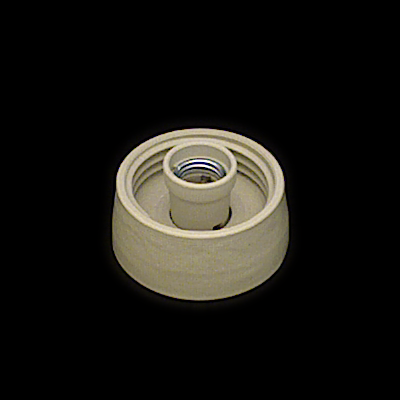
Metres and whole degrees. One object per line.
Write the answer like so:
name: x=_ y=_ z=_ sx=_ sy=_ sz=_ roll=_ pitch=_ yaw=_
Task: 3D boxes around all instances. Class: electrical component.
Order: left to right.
electrical component: x=0.000 y=0.000 z=0.637 sx=0.108 sy=0.061 sz=0.107 roll=1 pitch=43 yaw=0
